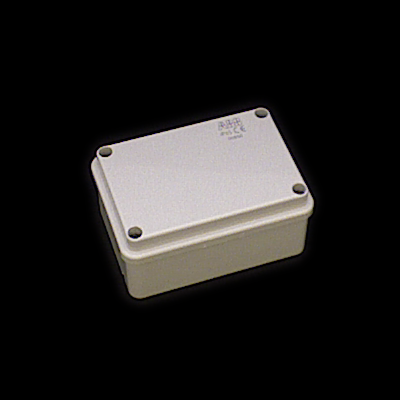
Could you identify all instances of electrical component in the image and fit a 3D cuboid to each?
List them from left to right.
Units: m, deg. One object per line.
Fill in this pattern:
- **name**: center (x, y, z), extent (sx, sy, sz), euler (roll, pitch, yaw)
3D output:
- **electrical component**: center (0.000, 0.000, 0.630), extent (0.113, 0.077, 0.057), euler (-15, -36, -12)
